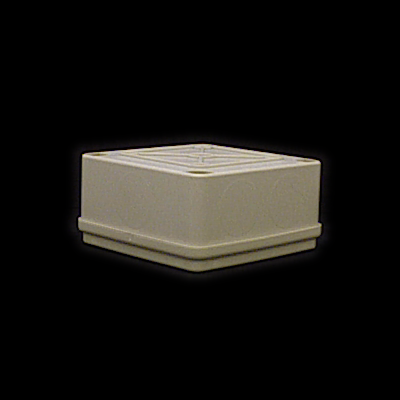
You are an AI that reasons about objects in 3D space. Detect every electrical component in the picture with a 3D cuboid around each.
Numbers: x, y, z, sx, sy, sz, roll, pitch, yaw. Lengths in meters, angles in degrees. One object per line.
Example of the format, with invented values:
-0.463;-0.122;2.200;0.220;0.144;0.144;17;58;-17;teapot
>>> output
0.000;0.000;0.646;0.108;0.056;0.108;-8;14;-43;electrical component
